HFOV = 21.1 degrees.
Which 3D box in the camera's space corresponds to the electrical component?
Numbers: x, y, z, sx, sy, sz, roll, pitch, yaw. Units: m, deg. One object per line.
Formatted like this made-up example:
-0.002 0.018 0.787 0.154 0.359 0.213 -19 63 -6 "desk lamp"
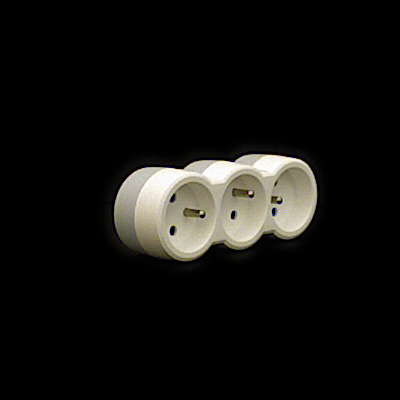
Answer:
0.000 0.000 0.655 0.139 0.052 0.072 -10 14 -44 "electrical component"
